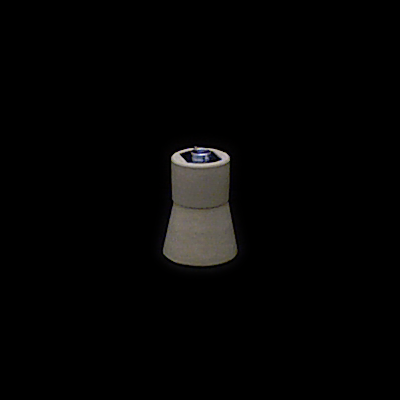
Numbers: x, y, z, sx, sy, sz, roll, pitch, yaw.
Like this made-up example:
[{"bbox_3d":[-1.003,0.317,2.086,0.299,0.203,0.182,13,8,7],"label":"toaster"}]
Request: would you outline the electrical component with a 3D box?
[{"bbox_3d":[0.000,0.000,0.638,0.044,0.066,0.044,0,22,0],"label":"electrical component"}]
